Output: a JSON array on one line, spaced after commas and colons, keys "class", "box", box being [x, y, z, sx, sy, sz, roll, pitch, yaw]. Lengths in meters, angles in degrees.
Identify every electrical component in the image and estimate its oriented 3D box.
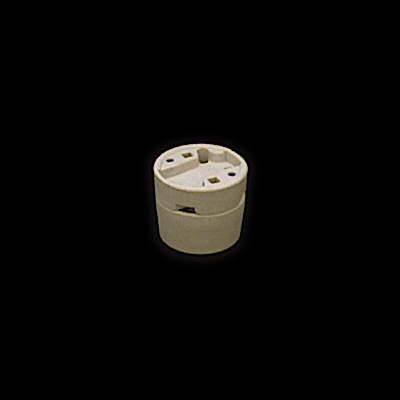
[{"class": "electrical component", "box": [0.000, 0.000, 0.637, 0.055, 0.047, 0.055, 1, 31, 0]}]
